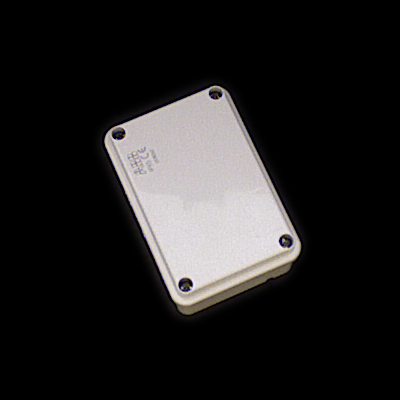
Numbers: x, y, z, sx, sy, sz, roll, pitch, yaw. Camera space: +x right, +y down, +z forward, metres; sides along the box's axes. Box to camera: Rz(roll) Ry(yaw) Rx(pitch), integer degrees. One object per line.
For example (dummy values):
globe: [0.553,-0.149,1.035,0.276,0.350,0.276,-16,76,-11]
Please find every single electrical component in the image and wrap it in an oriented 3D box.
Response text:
electrical component: [0.000,0.000,0.626,0.078,0.113,0.057,-23,-15,-7]
